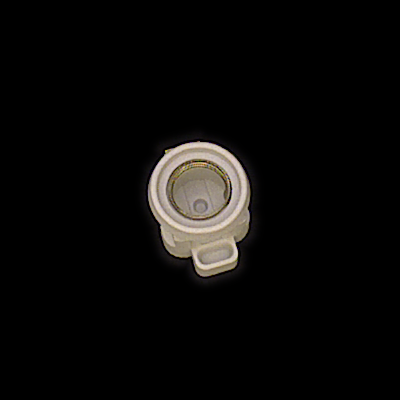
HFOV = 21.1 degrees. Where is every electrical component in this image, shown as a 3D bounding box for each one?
[{"bbox_3d":[0.000,0.000,0.629,0.058,0.078,0.056,-16,-16,-5],"label":"electrical component"}]
